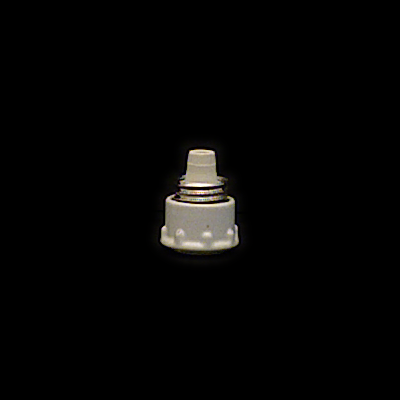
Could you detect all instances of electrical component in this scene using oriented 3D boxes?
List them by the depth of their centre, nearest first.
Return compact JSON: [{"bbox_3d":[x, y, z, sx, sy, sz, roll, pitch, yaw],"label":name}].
[{"bbox_3d":[0.000,0.000,0.650,0.048,0.062,0.047,1,13,0],"label":"electrical component"}]
